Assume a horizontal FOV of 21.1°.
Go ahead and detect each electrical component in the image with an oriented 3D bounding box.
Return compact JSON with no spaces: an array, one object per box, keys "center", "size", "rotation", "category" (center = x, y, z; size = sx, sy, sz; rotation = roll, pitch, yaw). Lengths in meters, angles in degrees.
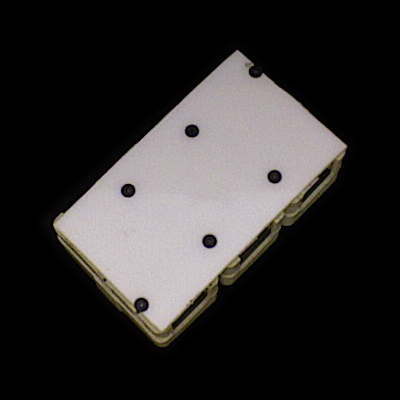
[{"center":[0.000,0.000,0.629],"size":[0.089,0.150,0.061],"rotation":[44,-12,12],"category":"electrical component"}]
